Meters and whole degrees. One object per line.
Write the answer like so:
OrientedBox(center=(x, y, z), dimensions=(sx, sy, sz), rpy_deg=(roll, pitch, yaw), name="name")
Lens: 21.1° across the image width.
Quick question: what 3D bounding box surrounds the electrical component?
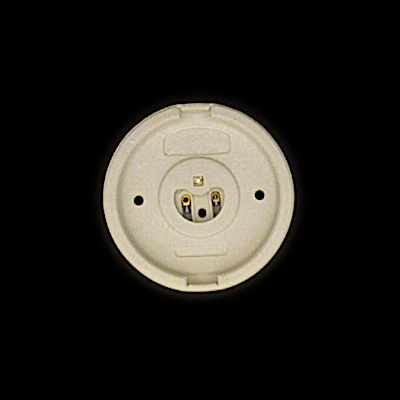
OrientedBox(center=(0.000, 0.000, 0.635), dimensions=(0.108, 0.108, 0.060), rpy_deg=(0, -5, 0), name="electrical component")
